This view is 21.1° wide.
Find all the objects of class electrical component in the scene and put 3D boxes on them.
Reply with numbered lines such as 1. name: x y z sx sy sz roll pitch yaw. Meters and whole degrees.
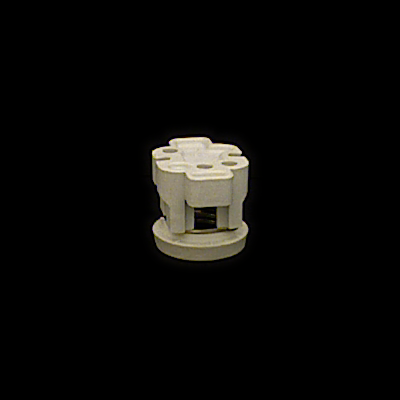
1. electrical component: 0.000 0.000 0.647 0.058 0.057 0.077 -4 21 -11
